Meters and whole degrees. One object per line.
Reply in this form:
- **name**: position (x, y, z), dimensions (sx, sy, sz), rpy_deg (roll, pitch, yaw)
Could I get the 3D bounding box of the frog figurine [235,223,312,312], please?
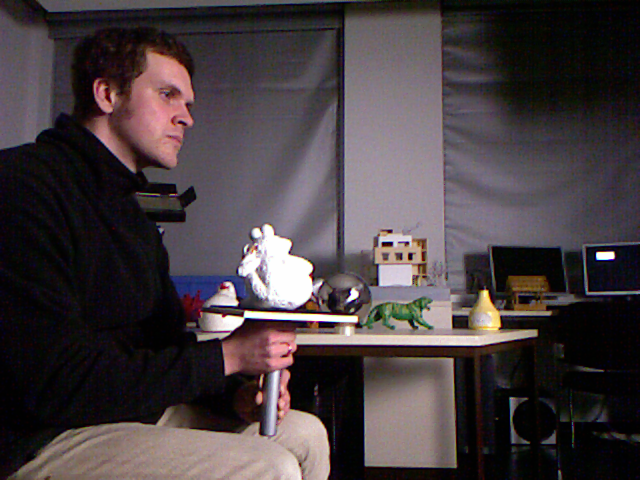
- **frog figurine**: position (-0.081, 0.050, 0.911), dimensions (0.137, 0.160, 0.122), rpy_deg (2, -3, -7)
